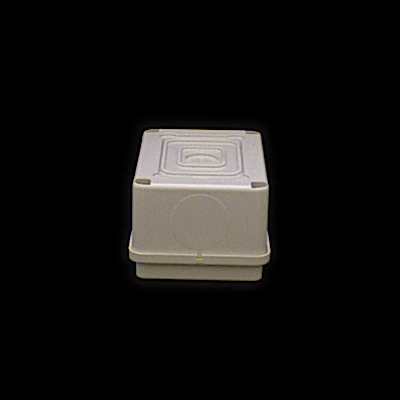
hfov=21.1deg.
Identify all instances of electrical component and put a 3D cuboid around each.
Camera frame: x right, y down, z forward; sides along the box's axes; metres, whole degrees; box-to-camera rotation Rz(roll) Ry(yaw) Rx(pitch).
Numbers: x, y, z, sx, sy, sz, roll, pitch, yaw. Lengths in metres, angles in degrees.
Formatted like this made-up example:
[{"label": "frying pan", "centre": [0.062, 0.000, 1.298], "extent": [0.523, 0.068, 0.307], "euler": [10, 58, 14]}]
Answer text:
[{"label": "electrical component", "centre": [0.000, 0.000, 0.639], "extent": [0.078, 0.058, 0.111], "euler": [1, 21, 0]}]
